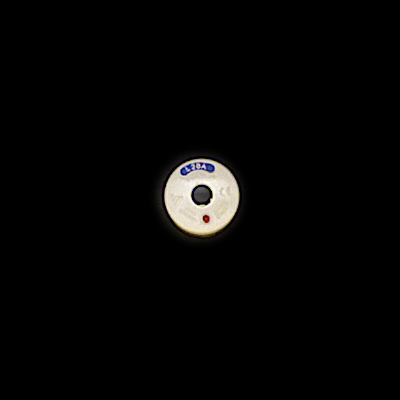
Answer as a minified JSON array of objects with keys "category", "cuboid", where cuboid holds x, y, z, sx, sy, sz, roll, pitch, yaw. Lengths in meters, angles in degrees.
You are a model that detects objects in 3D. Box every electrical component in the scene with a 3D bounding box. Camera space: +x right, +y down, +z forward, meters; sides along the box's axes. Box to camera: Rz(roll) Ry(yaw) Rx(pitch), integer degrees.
[{"category":"electrical component","cuboid":[0.000,0.000,0.617,0.040,0.040,0.078,0,-5,0]}]
